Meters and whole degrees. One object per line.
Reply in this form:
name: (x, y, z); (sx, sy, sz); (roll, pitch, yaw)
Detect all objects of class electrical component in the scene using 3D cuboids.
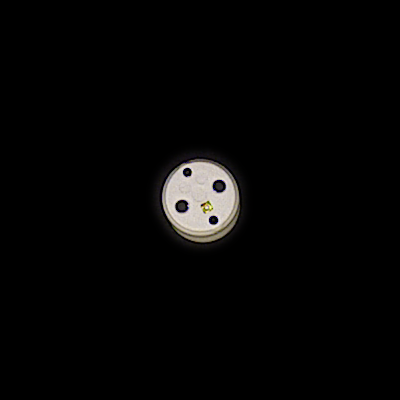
electrical component: (0.000, 0.000, 0.629); (0.045, 0.045, 0.055); (0, -7, 1)
